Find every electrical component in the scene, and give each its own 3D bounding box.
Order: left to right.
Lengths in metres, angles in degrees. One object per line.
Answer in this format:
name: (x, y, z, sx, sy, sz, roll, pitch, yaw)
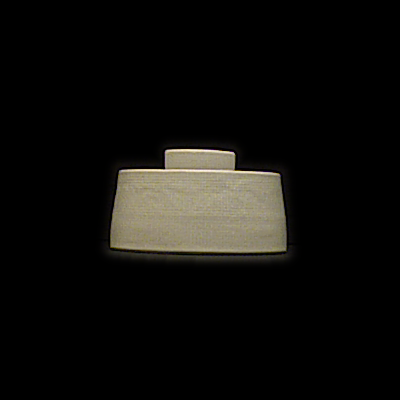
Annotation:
electrical component: (0.000, 0.000, 0.655, 0.108, 0.060, 0.108, 1, 1, 1)
